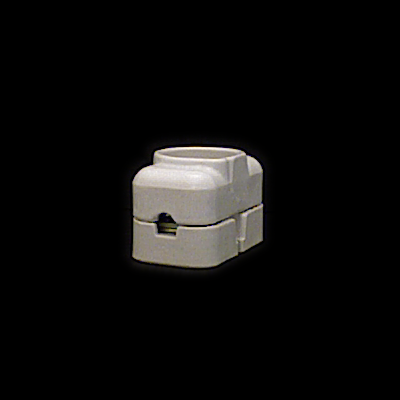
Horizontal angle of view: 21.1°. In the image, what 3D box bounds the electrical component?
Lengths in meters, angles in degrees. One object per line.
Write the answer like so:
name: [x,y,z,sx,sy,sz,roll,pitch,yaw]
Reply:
electrical component: [0.000,0.000,0.650,0.053,0.060,0.095,6,12,24]
